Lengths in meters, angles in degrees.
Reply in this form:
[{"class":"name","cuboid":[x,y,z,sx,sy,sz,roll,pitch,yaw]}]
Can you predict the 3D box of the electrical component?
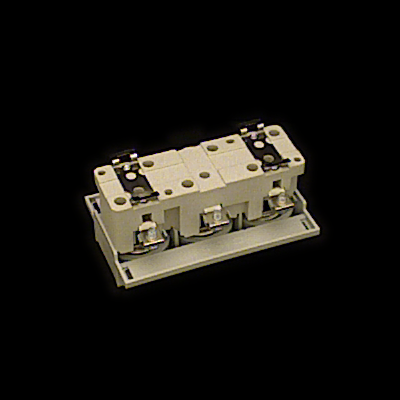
[{"class":"electrical component","cuboid":[0.000,0.000,0.640,0.122,0.063,0.077,-15,44,-17]}]
